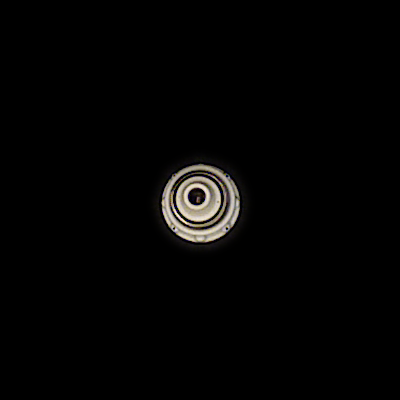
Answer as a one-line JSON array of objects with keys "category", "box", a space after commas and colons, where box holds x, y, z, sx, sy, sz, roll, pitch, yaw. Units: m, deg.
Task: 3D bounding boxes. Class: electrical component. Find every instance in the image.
[{"category": "electrical component", "box": [0.000, 0.000, 0.634, 0.048, 0.048, 0.062, 0, -5, 2]}]
